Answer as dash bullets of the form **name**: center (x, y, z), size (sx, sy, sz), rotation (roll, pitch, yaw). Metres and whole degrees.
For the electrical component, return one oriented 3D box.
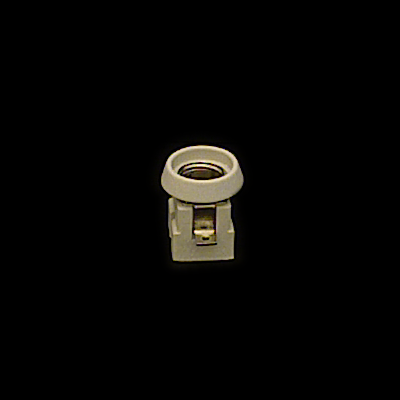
- **electrical component**: center (0.000, 0.000, 0.642), size (0.048, 0.056, 0.065), rotation (-5, 33, -5)
